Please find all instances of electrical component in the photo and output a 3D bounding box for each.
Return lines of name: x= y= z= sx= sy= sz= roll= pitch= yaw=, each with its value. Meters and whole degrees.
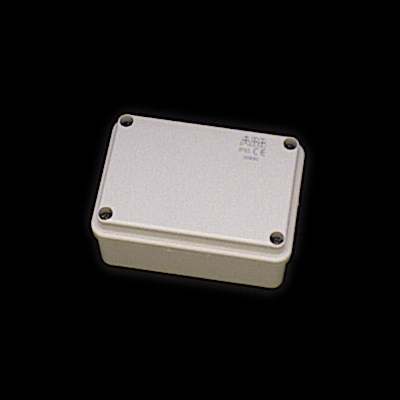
electrical component: x=0.000 y=0.000 z=0.628 sx=0.113 sy=0.078 sz=0.057 roll=8 pitch=-27 yaw=4
